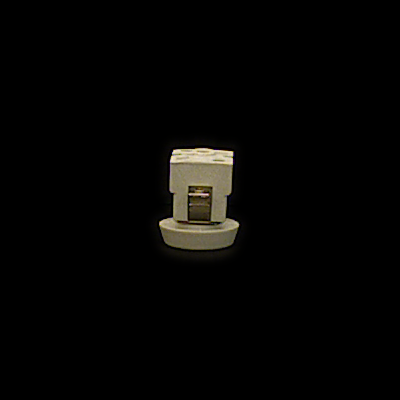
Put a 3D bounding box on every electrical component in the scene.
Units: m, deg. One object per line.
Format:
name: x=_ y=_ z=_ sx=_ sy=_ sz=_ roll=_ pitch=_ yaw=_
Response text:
electrical component: x=0.000 y=0.000 z=0.652 sx=0.048 sy=0.056 sz=0.066 roll=3 pitch=13 yaw=1
